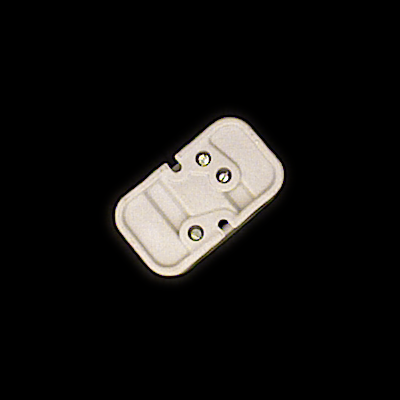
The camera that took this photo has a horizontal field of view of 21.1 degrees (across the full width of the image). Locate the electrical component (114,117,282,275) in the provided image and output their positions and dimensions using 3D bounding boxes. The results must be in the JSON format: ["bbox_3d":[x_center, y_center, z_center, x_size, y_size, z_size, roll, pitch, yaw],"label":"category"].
[{"bbox_3d":[0.000,0.000,0.636,0.095,0.054,0.059,-40,-5,-3],"label":"electrical component"}]
